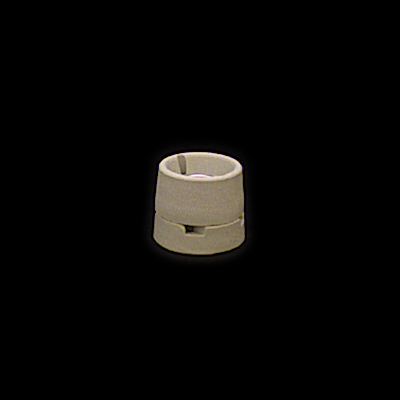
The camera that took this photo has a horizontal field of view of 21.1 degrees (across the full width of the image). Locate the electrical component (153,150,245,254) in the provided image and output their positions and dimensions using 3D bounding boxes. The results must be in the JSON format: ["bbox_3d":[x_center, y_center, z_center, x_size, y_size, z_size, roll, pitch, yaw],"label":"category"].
[{"bbox_3d":[0.000,0.000,0.640,0.055,0.047,0.055,1,22,0],"label":"electrical component"}]
